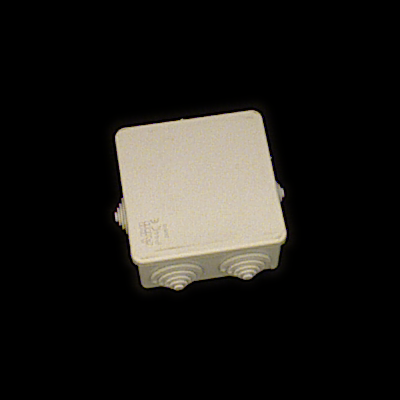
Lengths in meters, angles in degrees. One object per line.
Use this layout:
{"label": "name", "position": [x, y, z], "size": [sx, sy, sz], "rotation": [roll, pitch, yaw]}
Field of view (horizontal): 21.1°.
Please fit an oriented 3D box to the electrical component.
{"label": "electrical component", "position": [0.000, 0.000, 0.639], "size": [0.100, 0.100, 0.048], "rotation": [-8, -26, -5]}
